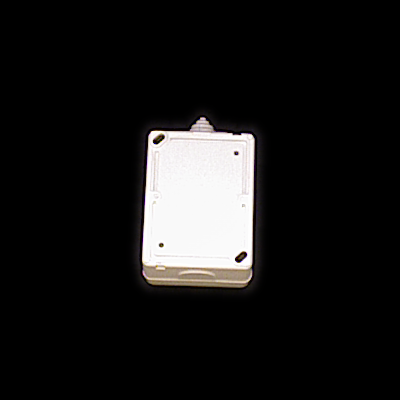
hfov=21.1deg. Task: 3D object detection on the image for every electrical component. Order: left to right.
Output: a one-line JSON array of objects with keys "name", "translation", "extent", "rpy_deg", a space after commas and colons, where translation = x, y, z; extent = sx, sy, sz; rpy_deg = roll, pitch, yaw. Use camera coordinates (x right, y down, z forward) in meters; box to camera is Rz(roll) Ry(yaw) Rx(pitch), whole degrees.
[{"name": "electrical component", "translation": [0.000, 0.000, 0.628], "extent": [0.062, 0.096, 0.060], "rpy_deg": [2, -18, 0]}]
